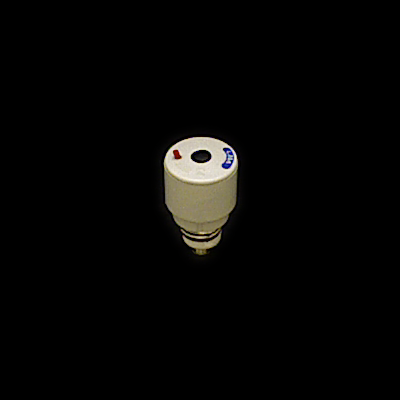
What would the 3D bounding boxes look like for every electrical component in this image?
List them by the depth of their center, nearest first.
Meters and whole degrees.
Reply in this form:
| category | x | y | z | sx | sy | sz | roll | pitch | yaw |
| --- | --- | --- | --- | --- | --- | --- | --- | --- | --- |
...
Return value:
| category | x | y | z | sx | sy | sz | roll | pitch | yaw |
| --- | --- | --- | --- | --- | --- | --- | --- | --- | --- |
| electrical component | 0.000 | 0.000 | 0.624 | 0.040 | 0.079 | 0.039 | 0 | 42 | 0 |
